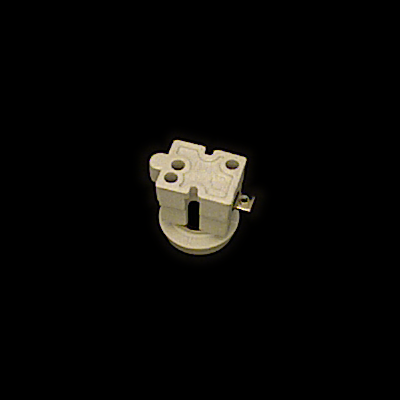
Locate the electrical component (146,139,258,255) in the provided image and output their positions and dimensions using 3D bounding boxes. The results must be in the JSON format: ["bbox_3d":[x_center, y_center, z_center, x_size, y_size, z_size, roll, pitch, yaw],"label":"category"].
[{"bbox_3d":[0.000,0.000,0.638,0.066,0.048,0.055,14,-37,9],"label":"electrical component"}]
